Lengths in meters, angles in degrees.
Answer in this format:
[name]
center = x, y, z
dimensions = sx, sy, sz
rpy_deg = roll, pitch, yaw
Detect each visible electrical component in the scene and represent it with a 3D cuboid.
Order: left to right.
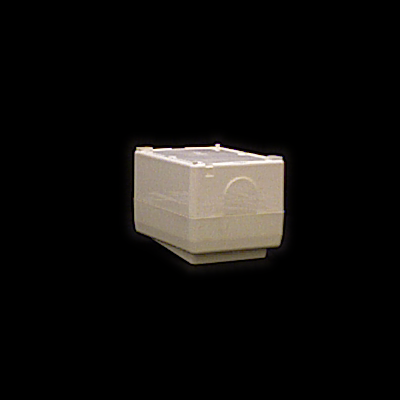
[electrical component]
center = 0.000, 0.000, 0.647
dimensions = 0.062, 0.061, 0.095
rpy_deg = -5, 11, -28
